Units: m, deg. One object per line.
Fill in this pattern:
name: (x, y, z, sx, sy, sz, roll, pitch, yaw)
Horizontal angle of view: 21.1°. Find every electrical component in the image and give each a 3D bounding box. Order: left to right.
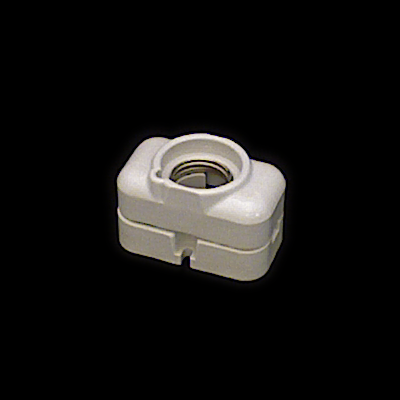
electrical component: (0.000, 0.000, 0.637, 0.094, 0.060, 0.053, 14, 44, 14)
